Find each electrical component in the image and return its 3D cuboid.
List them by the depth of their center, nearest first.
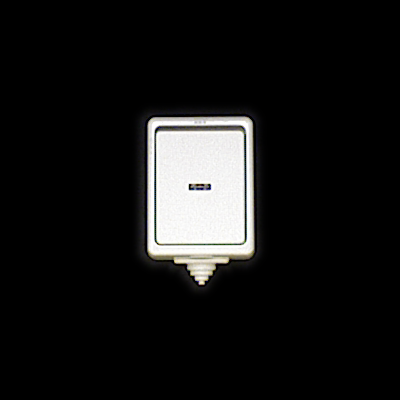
[{"bbox_3d":[0.000,0.000,0.626,0.062,0.096,0.061,0,-7,1],"label":"electrical component"}]
